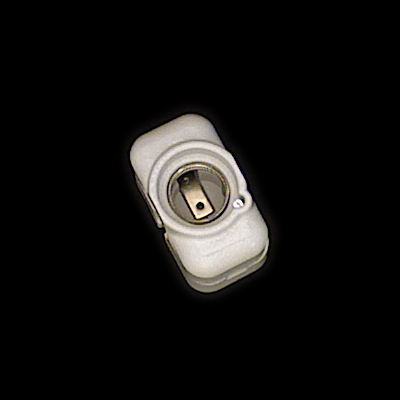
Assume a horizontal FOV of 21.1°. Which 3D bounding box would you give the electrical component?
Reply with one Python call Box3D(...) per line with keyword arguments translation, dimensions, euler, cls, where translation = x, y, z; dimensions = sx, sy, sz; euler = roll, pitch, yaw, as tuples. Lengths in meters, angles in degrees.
Box3D(translation=(0.000, 0.000, 0.634), dimensions=(0.054, 0.095, 0.059), euler=(-27, -14, -7), cls="electrical component")
